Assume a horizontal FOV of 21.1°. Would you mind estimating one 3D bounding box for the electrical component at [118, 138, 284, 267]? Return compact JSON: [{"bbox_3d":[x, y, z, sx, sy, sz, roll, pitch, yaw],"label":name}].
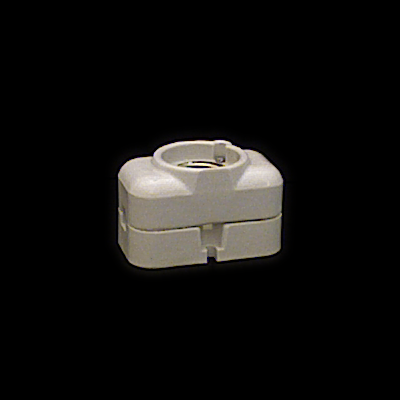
[{"bbox_3d":[0.000,0.000,0.647,0.096,0.060,0.053,-5,23,-17],"label":"electrical component"}]
